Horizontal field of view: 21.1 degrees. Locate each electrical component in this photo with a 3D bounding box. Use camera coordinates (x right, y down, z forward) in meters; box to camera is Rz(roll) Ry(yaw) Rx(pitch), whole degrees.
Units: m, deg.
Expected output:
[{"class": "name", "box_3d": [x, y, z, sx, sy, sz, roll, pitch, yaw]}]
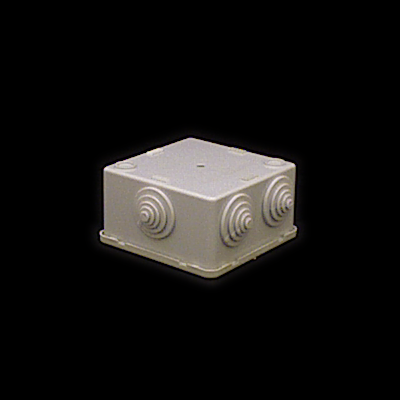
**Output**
[{"class": "electrical component", "box_3d": [0.000, 0.000, 0.642, 0.099, 0.049, 0.099, 17, 26, 35]}]
